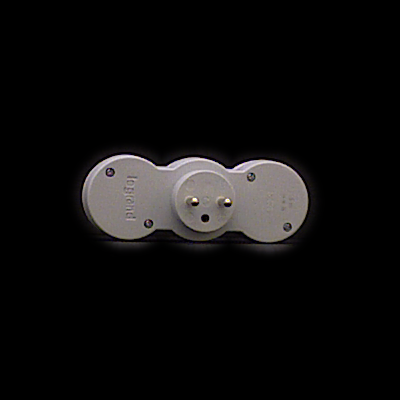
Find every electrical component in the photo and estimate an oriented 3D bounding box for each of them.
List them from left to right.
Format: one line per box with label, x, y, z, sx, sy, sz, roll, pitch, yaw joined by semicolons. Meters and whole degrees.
electrical component;0.000;0.000;0.651;0.138;0.052;0.073;2;2;-11
